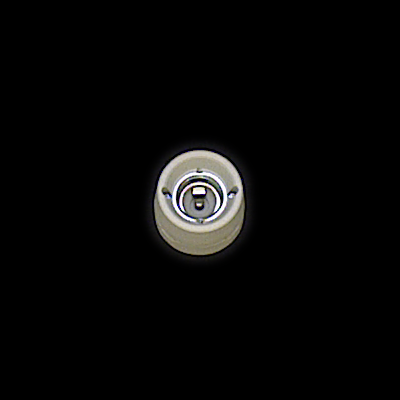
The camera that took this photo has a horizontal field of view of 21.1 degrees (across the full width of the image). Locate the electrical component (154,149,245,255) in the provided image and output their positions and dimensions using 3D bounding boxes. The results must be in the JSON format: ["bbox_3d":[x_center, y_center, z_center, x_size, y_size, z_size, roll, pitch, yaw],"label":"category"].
[{"bbox_3d":[0.000,0.000,0.633,0.055,0.056,0.047,0,-17,-1],"label":"electrical component"}]
